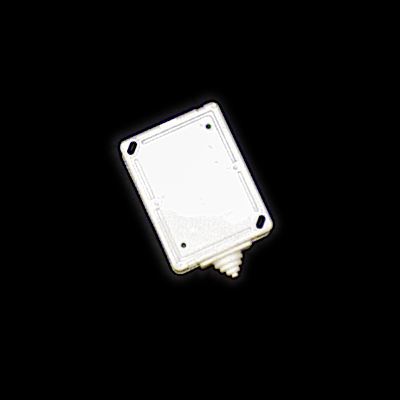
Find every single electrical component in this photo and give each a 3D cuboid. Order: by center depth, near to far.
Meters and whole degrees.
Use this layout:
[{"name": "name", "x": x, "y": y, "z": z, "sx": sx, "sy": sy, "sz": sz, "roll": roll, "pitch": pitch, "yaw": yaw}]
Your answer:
[{"name": "electrical component", "x": -0.001, "y": 0.000, "z": 0.626, "sx": 0.062, "sy": 0.096, "sz": 0.060, "roll": -24, "pitch": -7, "yaw": -3}]
